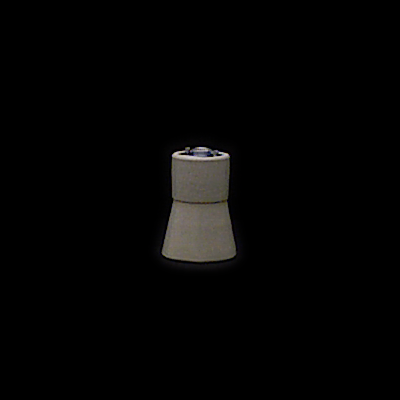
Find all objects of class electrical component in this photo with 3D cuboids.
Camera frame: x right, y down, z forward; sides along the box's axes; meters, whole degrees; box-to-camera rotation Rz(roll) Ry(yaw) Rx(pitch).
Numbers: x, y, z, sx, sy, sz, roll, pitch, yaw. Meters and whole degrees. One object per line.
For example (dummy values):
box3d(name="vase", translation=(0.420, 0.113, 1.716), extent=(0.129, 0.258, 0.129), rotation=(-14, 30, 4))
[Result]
box3d(name="electrical component", translation=(0.000, 0.000, 0.643), extent=(0.044, 0.066, 0.044), rotation=(1, 12, 0))
